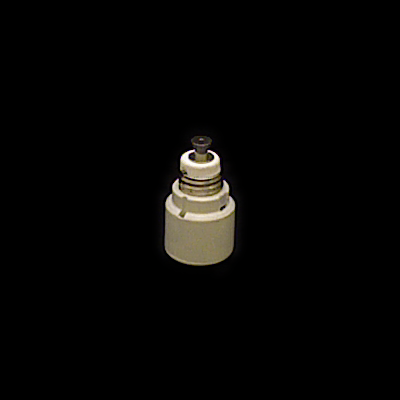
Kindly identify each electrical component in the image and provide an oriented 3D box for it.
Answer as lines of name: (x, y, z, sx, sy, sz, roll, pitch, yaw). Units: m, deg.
electrical component: (0.000, 0.000, 0.628, 0.040, 0.079, 0.039, 1, 30, 0)
